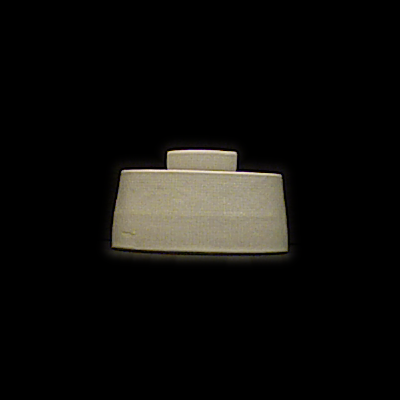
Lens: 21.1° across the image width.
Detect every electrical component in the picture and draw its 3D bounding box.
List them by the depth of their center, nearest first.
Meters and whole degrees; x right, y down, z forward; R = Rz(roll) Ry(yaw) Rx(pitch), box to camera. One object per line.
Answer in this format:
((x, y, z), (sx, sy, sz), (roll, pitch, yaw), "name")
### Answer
((0.000, 0.000, 0.658), (0.108, 0.060, 0.108), (1, 0, 1), "electrical component")
